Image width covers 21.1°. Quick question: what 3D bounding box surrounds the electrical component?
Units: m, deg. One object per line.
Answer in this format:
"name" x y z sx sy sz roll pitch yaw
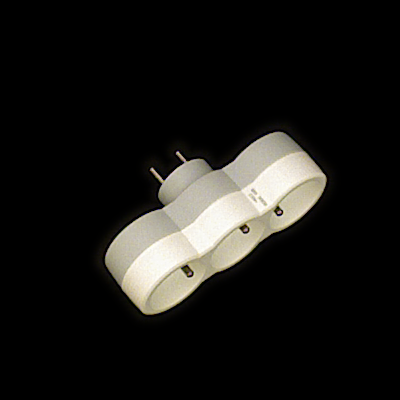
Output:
"electrical component" 0.000 0.000 0.639 0.139 0.073 0.052 -34 -23 -16
